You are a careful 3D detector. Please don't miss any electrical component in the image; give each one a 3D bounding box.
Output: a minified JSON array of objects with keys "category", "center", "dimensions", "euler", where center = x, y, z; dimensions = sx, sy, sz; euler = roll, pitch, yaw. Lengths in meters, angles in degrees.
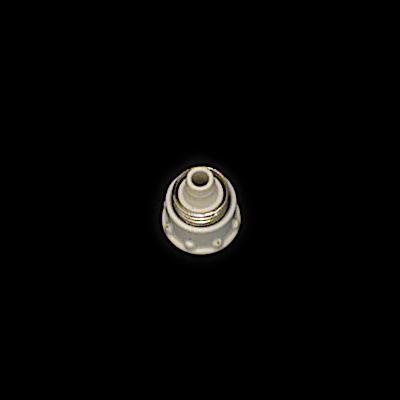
[{"category":"electrical component","center":[0.000,0.000,0.632],"dimensions":[0.048,0.048,0.062],"euler":[0,-26,1]}]
